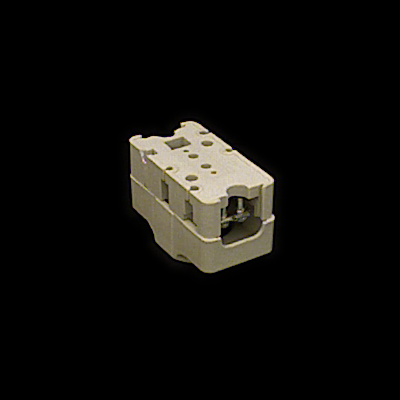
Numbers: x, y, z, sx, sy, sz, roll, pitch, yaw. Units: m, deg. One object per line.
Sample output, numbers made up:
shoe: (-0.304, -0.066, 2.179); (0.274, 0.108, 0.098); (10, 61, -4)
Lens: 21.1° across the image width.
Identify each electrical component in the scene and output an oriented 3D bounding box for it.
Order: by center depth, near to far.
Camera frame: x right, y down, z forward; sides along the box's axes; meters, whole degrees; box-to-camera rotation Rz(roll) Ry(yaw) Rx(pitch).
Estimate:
electrical component: (0.000, 0.000, 0.642); (0.050, 0.056, 0.088); (-19, 37, -27)
